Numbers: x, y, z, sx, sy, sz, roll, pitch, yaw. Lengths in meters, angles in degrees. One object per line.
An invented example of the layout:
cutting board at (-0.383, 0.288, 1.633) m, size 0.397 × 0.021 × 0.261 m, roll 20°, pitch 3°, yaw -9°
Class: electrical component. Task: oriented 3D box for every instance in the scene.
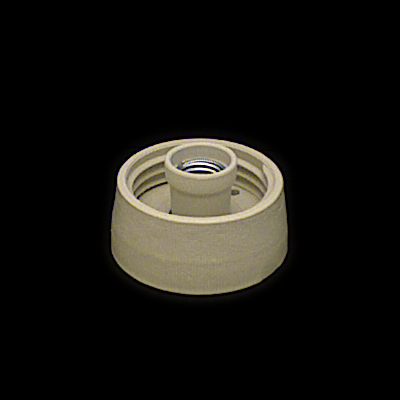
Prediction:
electrical component at (0.000, 0.000, 0.641) m, size 0.108 × 0.061 × 0.106 m, roll 1°, pitch 32°, yaw 0°
